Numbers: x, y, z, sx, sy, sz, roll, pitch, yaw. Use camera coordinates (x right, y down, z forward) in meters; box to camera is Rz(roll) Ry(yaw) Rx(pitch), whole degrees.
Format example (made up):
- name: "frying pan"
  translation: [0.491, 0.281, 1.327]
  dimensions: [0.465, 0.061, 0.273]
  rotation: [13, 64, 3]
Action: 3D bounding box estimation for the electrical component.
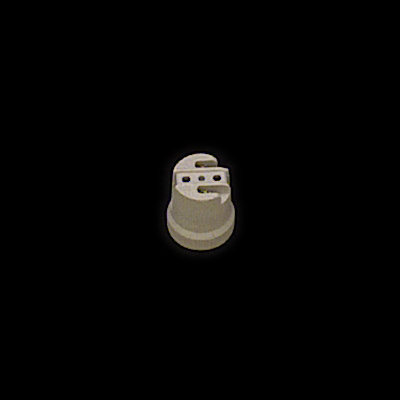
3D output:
- name: "electrical component"
  translation: [0.000, 0.000, 0.633]
  dimensions: [0.040, 0.040, 0.046]
  rotation: [0, -37, 0]
